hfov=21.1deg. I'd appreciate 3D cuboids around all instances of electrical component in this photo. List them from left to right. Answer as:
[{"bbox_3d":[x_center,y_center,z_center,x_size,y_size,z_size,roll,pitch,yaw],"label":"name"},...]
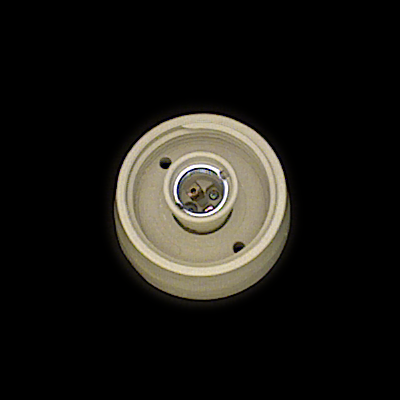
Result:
[{"bbox_3d":[0.000,0.000,0.634,0.108,0.108,0.060,0,-16,0],"label":"electrical component"}]
